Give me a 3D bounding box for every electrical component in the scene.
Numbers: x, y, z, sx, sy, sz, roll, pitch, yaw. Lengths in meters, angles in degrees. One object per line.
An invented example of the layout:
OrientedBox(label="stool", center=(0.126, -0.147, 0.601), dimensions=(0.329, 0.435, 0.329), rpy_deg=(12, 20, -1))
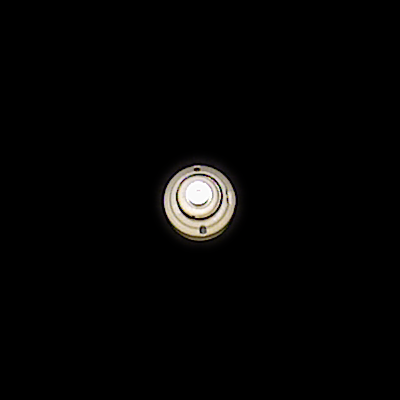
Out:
OrientedBox(label="electrical component", center=(0.000, 0.000, 0.618), dimensions=(0.040, 0.040, 0.078), rpy_deg=(0, -7, 1))
